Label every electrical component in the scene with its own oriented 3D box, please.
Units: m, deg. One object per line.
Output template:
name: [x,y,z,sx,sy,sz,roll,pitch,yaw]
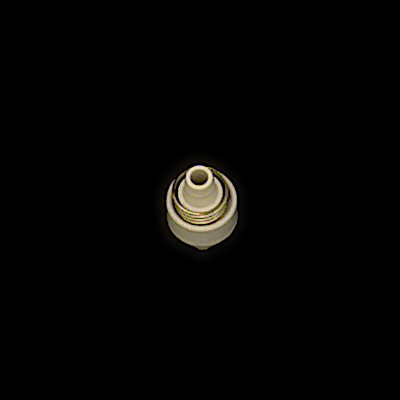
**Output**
electrical component: [0.000,0.000,0.634,0.043,0.043,0.062,0,-26,2]
